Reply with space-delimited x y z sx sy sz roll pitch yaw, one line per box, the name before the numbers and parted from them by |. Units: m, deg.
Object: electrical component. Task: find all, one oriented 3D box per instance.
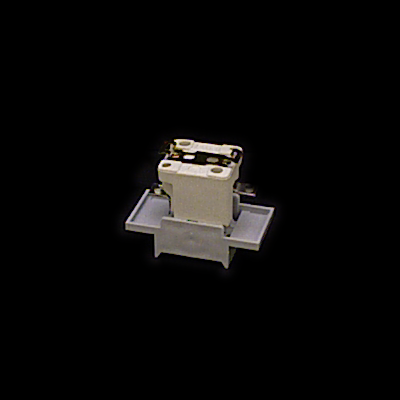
electrical component | 0.000 0.000 0.633 0.081 0.064 0.042 9 32 12
